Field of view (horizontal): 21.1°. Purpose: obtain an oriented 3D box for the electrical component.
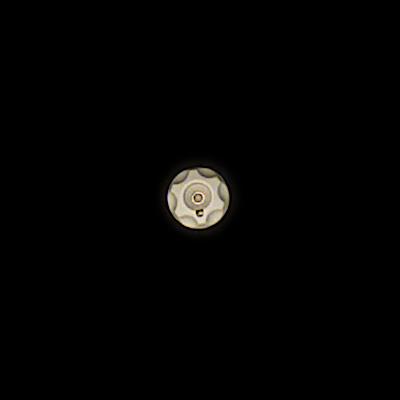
[{"bbox_3d":[0.000,0.000,0.634,0.035,0.035,0.061,0,-5,1],"label":"electrical component"}]
